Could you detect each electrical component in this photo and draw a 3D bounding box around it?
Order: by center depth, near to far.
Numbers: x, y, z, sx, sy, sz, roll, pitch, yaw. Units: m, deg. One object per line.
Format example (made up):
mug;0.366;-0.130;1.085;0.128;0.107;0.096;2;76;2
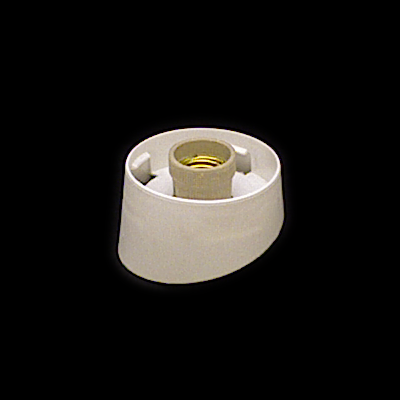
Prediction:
electrical component;0.000;0.000;0.634;0.099;0.065;0.097;1;31;0
